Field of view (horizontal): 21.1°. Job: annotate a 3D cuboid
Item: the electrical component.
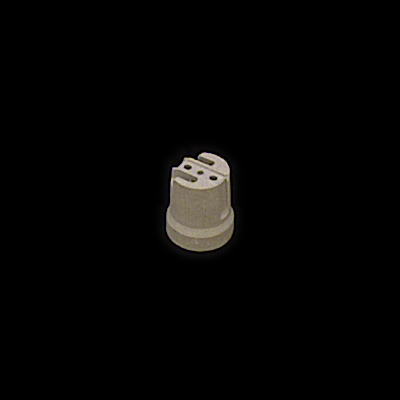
[{"bbox_3d":[0.000,0.000,0.636,0.040,0.046,0.040,1,42,-1],"label":"electrical component"}]
